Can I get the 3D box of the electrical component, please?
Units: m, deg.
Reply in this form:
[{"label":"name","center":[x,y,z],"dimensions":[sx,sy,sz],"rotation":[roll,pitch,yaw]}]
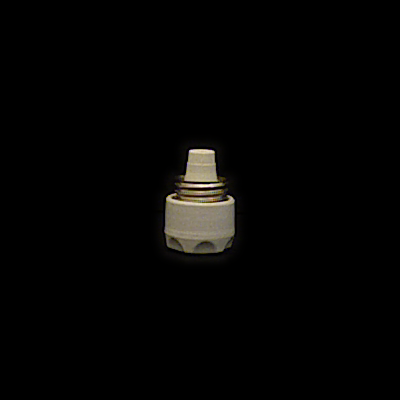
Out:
[{"label":"electrical component","center":[0.000,0.000,0.652],"dimensions":[0.043,0.062,0.043],"rotation":[2,11,0]}]
